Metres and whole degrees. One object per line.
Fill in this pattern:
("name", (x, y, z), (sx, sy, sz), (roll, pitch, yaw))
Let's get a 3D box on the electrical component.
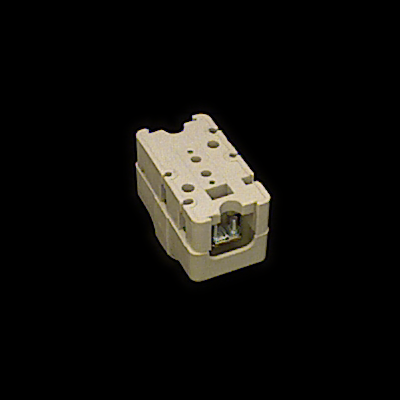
("electrical component", (0.000, 0.000, 0.640), (0.050, 0.056, 0.088), (-17, 46, -19))
